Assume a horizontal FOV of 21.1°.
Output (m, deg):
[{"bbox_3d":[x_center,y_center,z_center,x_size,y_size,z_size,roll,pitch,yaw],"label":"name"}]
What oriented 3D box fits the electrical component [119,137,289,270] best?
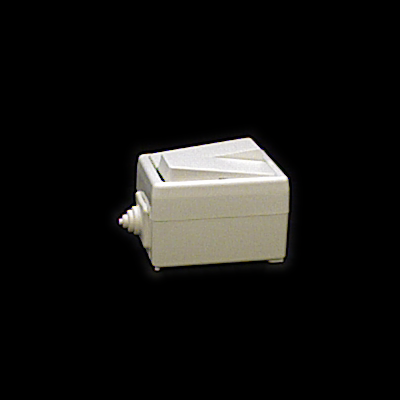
[{"bbox_3d":[0.000,0.000,0.638,0.096,0.061,0.061,-3,21,-12],"label":"electrical component"}]
